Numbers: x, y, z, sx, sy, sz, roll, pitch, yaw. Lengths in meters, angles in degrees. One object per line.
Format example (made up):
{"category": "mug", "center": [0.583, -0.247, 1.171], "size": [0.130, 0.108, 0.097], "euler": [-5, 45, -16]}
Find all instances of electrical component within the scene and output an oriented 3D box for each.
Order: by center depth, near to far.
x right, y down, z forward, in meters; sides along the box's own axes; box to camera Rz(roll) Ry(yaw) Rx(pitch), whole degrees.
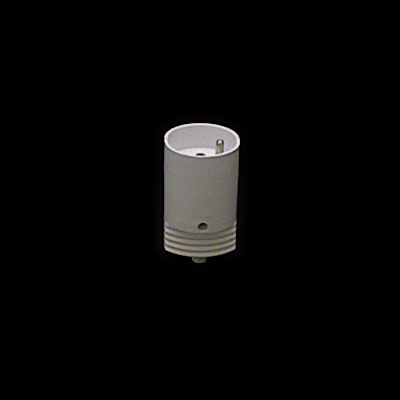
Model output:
{"category": "electrical component", "center": [0.000, 0.000, 0.630], "size": [0.043, 0.082, 0.042], "euler": [1, 32, -1]}
